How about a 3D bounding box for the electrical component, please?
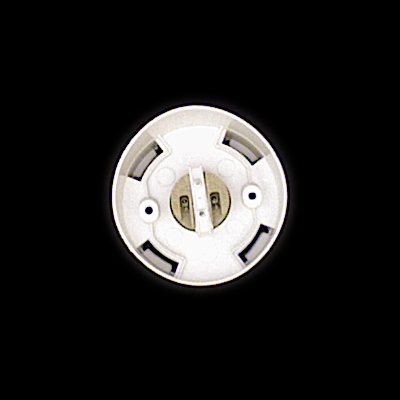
[{"bbox_3d":[0.000,0.000,0.624,0.099,0.099,0.064,0,-7,1],"label":"electrical component"}]
